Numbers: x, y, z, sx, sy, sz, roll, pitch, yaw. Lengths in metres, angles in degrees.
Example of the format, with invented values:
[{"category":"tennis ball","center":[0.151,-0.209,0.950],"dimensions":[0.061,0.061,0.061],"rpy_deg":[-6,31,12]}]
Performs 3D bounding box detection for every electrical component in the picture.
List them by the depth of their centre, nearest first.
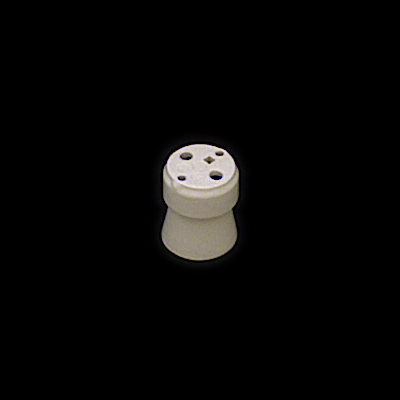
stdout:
[{"category":"electrical component","center":[0.000,0.000,0.632],"dimensions":[0.045,0.055,0.044],"rpy_deg":[0,43,0]}]
